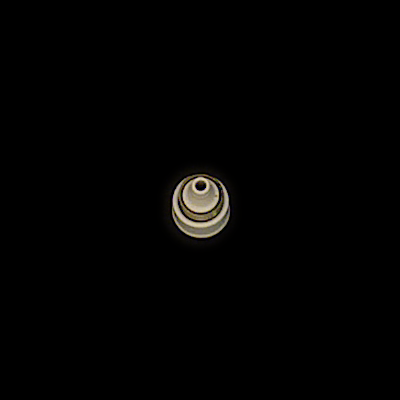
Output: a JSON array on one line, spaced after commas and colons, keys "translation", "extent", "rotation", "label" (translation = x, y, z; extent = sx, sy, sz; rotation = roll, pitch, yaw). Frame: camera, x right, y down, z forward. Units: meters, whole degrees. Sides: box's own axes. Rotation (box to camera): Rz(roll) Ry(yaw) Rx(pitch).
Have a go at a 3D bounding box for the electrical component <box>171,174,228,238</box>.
[{"translation": [0.000, 0.000, 0.637], "extent": [0.035, 0.035, 0.061], "rotation": [0, -17, 0], "label": "electrical component"}]
